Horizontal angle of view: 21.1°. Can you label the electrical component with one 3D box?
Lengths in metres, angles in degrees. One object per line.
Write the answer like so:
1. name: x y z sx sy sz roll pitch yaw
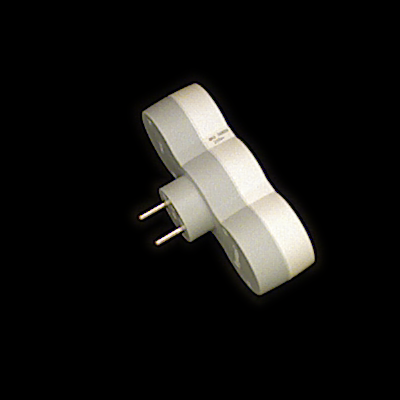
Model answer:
1. electrical component: 0.000 0.000 0.637 0.074 0.137 0.052 -29 -23 -12
